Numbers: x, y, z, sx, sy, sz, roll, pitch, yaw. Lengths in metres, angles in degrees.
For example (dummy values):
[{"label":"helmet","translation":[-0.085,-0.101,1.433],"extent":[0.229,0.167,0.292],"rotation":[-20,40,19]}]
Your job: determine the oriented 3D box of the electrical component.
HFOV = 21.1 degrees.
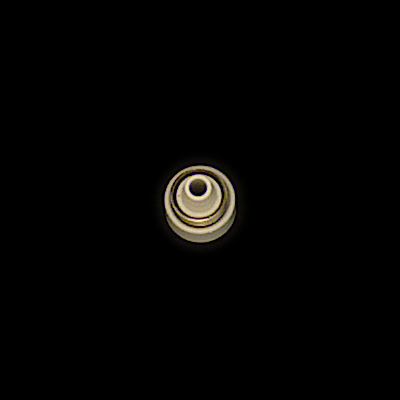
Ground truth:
[{"label":"electrical component","translation":[0.000,0.000,0.633],"extent":[0.043,0.043,0.061],"rotation":[0,-15,1]}]
